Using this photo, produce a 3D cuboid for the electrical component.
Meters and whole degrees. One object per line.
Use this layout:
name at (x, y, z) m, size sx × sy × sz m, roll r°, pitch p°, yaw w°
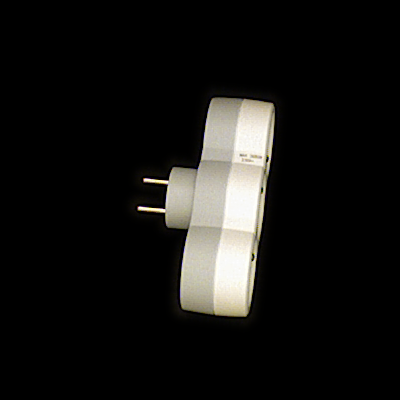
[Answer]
electrical component at (0.000, 0.000, 0.638) m, size 0.073 × 0.138 × 0.052 m, roll 7°, pitch -26°, yaw 5°
